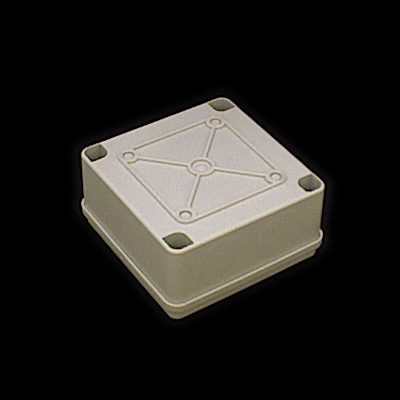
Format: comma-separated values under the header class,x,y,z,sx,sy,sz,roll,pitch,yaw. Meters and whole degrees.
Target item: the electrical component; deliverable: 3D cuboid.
class,x,y,z,sx,sy,sz,roll,pitch,yaw
electrical component,0.000,0.000,0.632,0.108,0.057,0.108,-23,48,-25
